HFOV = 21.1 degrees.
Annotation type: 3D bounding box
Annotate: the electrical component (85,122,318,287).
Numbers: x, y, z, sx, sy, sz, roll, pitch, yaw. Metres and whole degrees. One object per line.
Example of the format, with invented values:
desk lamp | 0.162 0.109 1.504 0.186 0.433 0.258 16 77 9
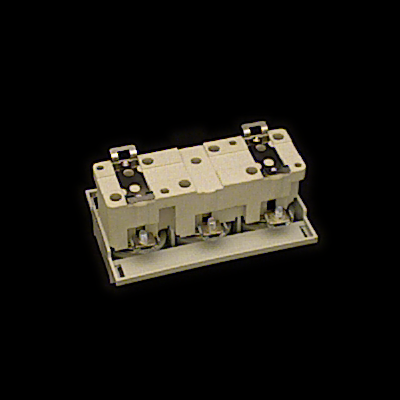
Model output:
electrical component | 0.000 0.000 0.636 0.122 0.063 0.078 -12 44 -13
